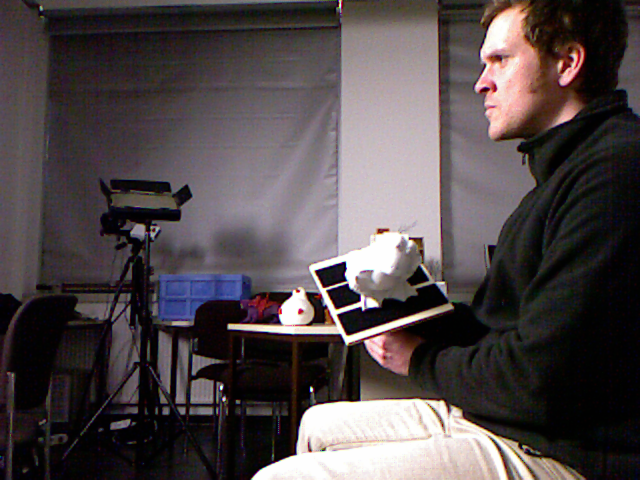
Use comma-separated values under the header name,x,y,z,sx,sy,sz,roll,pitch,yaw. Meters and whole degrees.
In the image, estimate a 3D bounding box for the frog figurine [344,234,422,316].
name,x,y,z,sx,sy,sz,roll,pitch,yaw
frog figurine,0.110,0.038,0.895,0.138,0.156,0.126,-4,43,-2
